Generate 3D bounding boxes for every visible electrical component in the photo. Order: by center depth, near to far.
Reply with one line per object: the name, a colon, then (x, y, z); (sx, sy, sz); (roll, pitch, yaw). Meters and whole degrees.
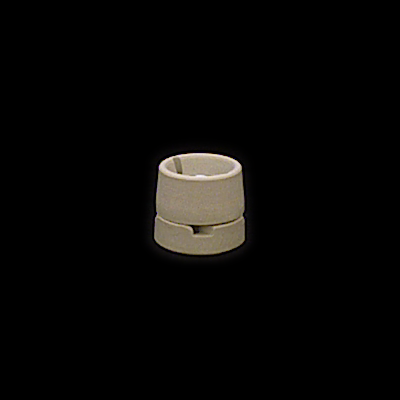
electrical component: (0.000, 0.000, 0.642); (0.055, 0.047, 0.055); (1, 20, 0)
